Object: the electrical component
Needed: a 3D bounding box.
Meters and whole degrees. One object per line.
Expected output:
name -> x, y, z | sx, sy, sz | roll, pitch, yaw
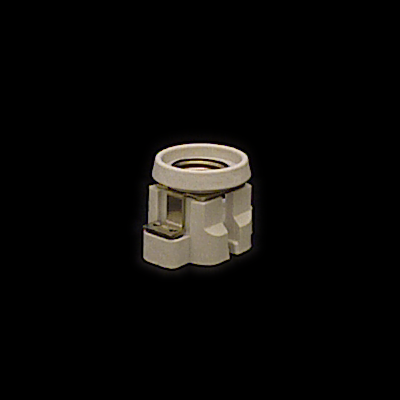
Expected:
electrical component -> 0.000, 0.000, 0.637 | 0.057, 0.057, 0.078 | 18, 27, 37
